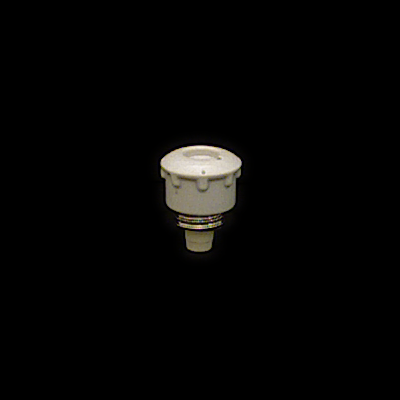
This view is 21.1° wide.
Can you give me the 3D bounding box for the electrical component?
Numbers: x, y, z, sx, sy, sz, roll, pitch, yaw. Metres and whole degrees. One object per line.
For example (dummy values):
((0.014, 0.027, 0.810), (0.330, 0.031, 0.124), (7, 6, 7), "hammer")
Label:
((0.000, 0.000, 0.648), (0.048, 0.063, 0.047), (1, 22, 0), "electrical component")
